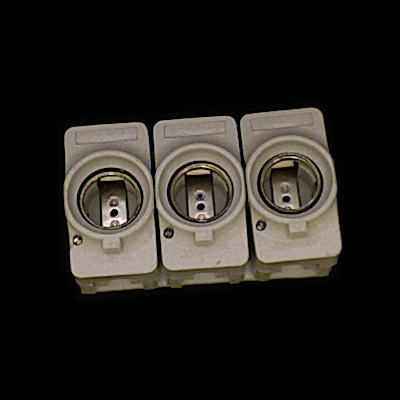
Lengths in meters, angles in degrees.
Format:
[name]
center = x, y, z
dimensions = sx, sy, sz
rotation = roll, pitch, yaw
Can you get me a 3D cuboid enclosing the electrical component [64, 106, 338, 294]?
[electrical component]
center = 0.000, 0.000, 0.631
dimensions = 0.150, 0.089, 0.062
rotation = -5, -16, -1
